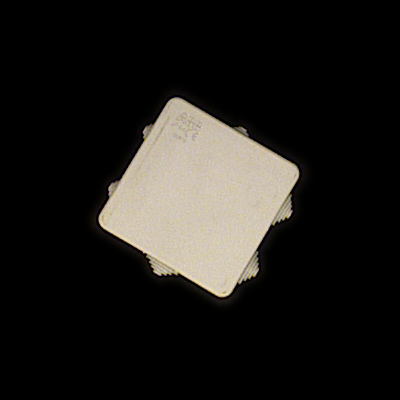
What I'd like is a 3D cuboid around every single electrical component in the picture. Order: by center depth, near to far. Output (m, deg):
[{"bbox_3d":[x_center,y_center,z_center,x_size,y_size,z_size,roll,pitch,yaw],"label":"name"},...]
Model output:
[{"bbox_3d":[0.000,0.000,0.642,0.099,0.100,0.048,31,-5,3],"label":"electrical component"}]
